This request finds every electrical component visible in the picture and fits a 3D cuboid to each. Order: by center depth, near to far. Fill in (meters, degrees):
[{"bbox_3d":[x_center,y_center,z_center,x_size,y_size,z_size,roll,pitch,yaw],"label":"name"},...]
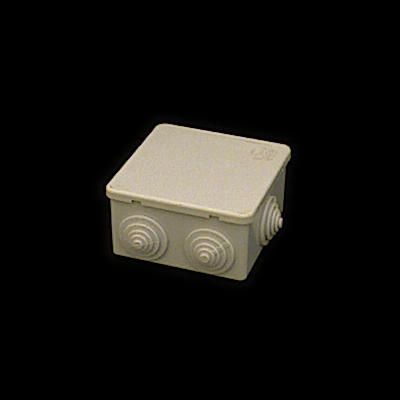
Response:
[{"bbox_3d":[0.000,0.000,0.646,0.099,0.049,0.099,11,34,16],"label":"electrical component"}]
